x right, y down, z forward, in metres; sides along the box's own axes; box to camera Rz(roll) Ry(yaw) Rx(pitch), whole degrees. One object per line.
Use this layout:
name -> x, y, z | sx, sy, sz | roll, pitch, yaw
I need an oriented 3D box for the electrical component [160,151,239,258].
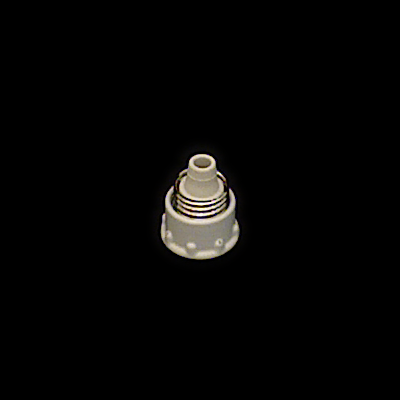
electrical component -> 0.000, 0.000, 0.638 | 0.048, 0.062, 0.047 | 1, 43, -1
